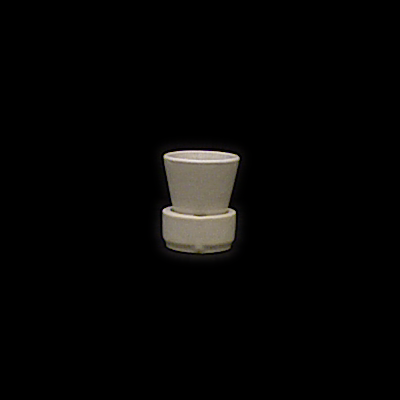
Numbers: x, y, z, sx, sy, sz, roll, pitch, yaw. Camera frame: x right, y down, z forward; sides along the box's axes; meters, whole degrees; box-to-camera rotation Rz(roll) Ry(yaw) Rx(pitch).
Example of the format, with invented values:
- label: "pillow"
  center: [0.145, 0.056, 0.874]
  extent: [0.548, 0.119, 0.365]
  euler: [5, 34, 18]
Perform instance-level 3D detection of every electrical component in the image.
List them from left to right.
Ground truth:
- label: "electrical component"
  center: [0.000, 0.000, 0.646]
  extent: [0.045, 0.055, 0.044]
  euler: [2, 11, 0]
